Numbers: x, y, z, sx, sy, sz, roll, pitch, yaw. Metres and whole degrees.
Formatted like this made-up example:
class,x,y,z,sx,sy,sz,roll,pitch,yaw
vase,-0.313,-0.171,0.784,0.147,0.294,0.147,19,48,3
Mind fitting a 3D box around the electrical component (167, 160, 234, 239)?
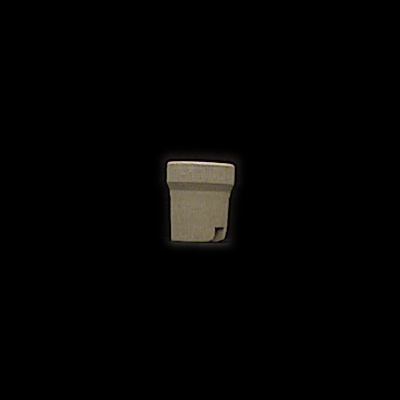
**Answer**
class,x,y,z,sx,sy,sz,roll,pitch,yaw
electrical component,0.000,0.000,0.649,0.040,0.046,0.040,1,1,0
